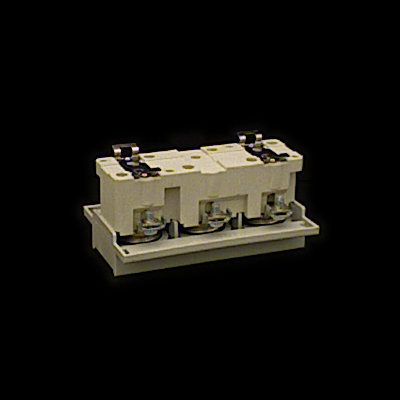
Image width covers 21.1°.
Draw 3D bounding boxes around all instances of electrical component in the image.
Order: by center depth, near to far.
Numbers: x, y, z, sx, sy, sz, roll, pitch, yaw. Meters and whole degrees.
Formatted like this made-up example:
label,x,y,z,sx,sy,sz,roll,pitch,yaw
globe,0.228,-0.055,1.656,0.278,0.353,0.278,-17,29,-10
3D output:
label,x,y,z,sx,sy,sz,roll,pitch,yaw
electrical component,0.000,0.000,0.643,0.122,0.064,0.077,-8,24,-21
